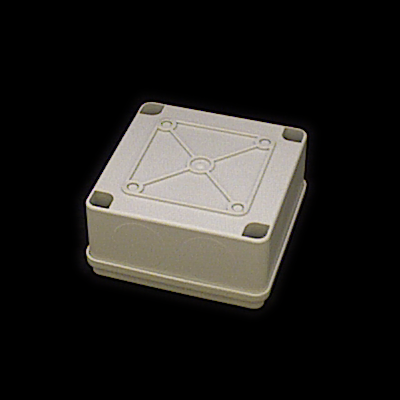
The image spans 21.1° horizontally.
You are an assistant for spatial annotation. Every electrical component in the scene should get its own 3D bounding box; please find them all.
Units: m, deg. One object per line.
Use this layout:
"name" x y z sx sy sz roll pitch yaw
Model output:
"electrical component" 0.000 0.000 0.633 0.108 0.057 0.108 11 42 12
